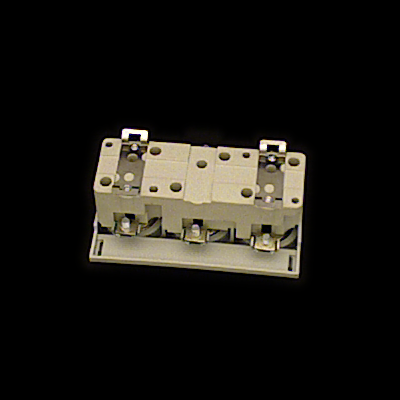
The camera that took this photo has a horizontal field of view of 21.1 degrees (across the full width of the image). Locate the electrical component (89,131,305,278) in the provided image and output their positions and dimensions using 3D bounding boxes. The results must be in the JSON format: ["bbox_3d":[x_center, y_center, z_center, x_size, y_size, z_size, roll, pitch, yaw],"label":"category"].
[{"bbox_3d":[0.000,0.000,0.633,0.121,0.078,0.063,4,-36,3],"label":"electrical component"}]
